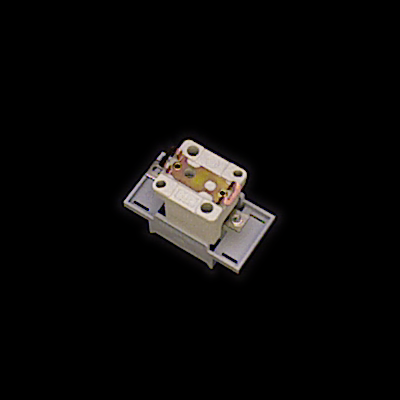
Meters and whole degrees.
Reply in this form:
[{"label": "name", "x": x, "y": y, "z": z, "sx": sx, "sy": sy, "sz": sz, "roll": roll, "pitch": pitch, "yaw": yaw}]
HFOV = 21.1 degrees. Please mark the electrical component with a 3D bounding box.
[{"label": "electrical component", "x": 0.000, "y": 0.000, "z": 0.626, "sx": 0.081, "sy": 0.042, "sz": 0.063, "roll": 29, "pitch": -24, "yaw": 14}]
